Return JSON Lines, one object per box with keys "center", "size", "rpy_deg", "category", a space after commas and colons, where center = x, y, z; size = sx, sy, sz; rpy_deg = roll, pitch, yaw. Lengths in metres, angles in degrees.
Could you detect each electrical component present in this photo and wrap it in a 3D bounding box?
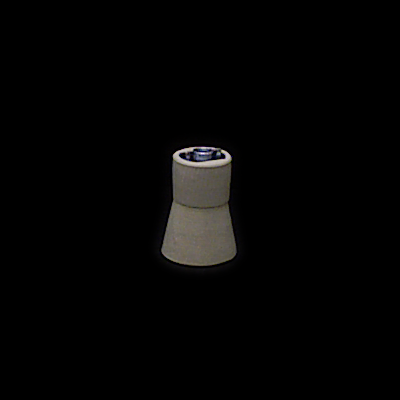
{"center": [0.000, 0.000, 0.636], "size": [0.044, 0.066, 0.044], "rpy_deg": [2, 22, 0], "category": "electrical component"}
